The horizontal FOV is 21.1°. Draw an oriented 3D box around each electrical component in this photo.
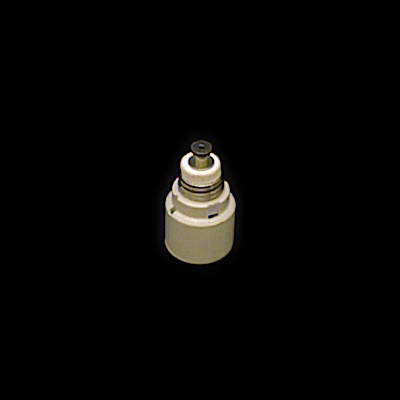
[{"bbox_3d":[0.000,0.000,0.624,0.040,0.079,0.039,1,41,-1],"label":"electrical component"}]
